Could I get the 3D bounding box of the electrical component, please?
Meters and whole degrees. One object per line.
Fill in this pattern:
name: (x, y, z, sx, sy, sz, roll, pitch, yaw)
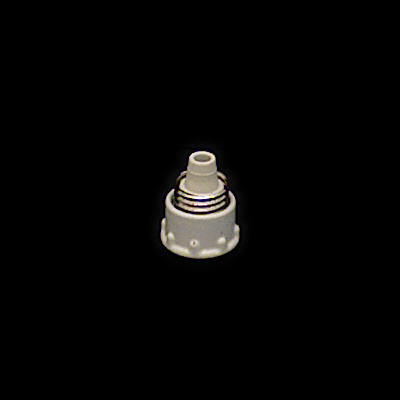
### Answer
electrical component: (0.000, 0.000, 0.641, 0.048, 0.063, 0.047, 1, 33, 0)
